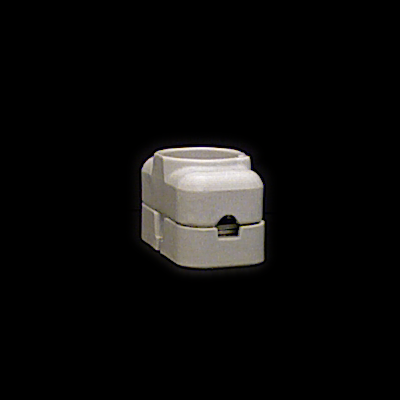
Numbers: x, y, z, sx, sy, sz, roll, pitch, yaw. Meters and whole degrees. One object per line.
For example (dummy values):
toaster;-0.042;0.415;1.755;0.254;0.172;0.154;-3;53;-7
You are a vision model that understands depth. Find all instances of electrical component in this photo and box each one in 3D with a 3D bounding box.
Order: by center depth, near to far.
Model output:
electrical component;0.000;0.000;0.651;0.054;0.060;0.094;-4;13;-20
